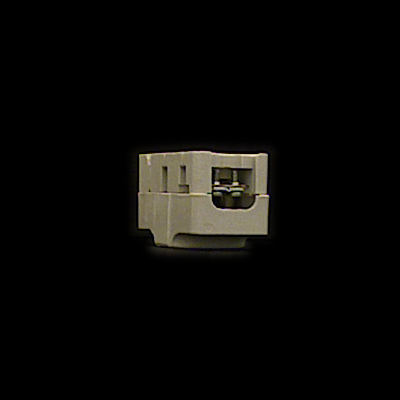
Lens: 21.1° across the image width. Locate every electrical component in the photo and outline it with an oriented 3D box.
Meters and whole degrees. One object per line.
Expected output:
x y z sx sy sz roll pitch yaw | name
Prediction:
0.000 0.000 0.656 0.050 0.056 0.089 0 1 -26 | electrical component
